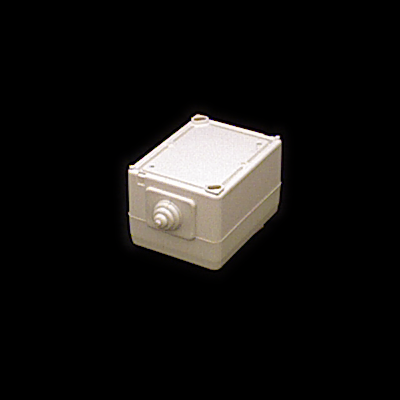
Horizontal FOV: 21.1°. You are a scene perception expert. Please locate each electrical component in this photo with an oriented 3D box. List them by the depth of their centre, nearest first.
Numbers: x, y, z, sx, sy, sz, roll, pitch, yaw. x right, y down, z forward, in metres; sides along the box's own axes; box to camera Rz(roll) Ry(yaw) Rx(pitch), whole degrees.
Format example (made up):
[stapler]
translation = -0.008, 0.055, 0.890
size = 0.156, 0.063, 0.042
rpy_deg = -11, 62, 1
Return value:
[electrical component]
translation = 0.000, 0.000, 0.635
size = 0.061, 0.061, 0.096
rpy_deg = 17, 36, 25
